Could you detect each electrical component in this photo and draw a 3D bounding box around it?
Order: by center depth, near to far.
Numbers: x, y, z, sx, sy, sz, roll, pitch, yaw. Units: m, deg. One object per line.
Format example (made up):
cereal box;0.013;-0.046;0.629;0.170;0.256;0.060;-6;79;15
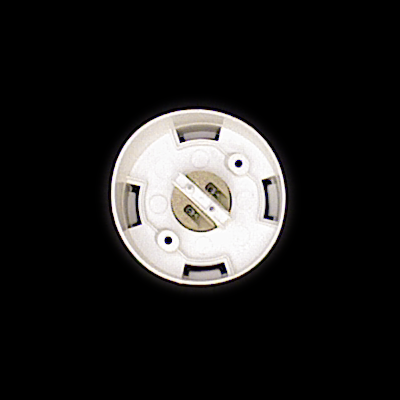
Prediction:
electrical component;0.000;0.000;0.624;0.099;0.099;0.064;0;-7;1
